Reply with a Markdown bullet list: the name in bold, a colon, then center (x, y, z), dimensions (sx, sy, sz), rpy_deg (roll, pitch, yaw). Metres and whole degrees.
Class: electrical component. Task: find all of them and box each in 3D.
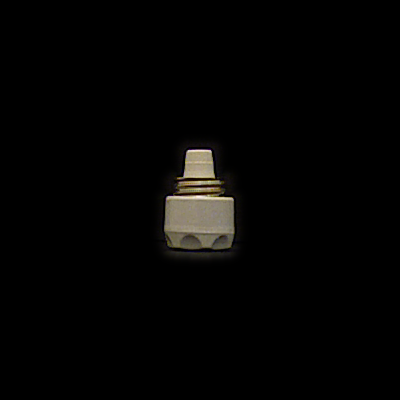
- **electrical component**: center (0.000, 0.000, 0.656), dimensions (0.043, 0.062, 0.043), rpy_deg (0, 1, 1)
